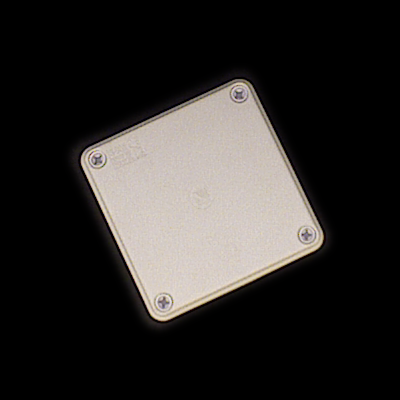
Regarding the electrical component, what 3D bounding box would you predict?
[{"bbox_3d":[0.000,0.000,0.630,0.109,0.109,0.056,-25,-6,-3],"label":"electrical component"}]
